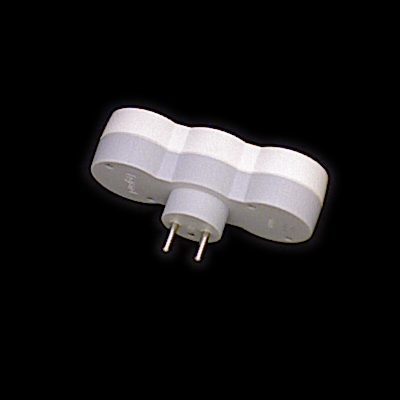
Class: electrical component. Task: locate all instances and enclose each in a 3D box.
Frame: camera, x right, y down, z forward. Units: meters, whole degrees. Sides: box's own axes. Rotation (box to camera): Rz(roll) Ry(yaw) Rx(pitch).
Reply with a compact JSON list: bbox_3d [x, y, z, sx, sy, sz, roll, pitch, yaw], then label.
[{"bbox_3d":[0.000,0.000,0.630,0.138,0.074,0.052,16,-24,7],"label":"electrical component"}]
